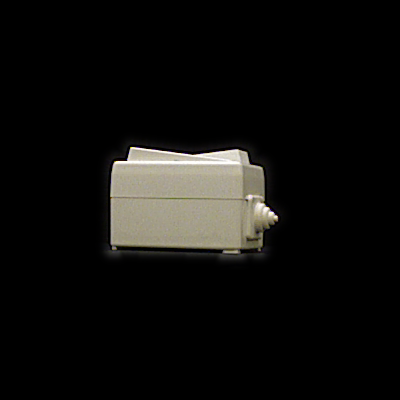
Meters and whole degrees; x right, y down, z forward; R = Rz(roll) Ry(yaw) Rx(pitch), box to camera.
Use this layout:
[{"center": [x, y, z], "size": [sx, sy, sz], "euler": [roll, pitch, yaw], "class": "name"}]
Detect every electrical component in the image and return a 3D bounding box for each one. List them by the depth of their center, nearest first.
[{"center": [0.000, 0.000, 0.649], "size": [0.096, 0.061, 0.061], "euler": [1, 0, 17], "class": "electrical component"}]
